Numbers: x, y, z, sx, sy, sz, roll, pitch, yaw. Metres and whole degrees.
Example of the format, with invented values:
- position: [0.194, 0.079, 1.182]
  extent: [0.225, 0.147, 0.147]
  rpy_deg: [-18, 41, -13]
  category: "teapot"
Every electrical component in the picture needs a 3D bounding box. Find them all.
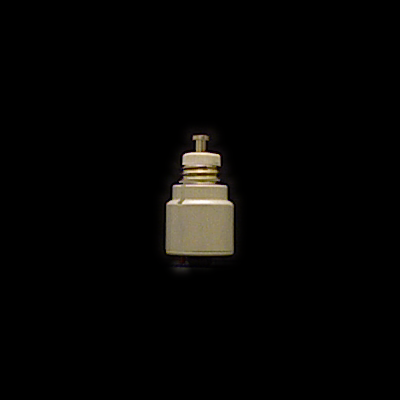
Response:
- position: [0.000, 0.000, 0.651]
  extent: [0.040, 0.078, 0.040]
  rpy_deg: [1, 2, 0]
  category: "electrical component"
